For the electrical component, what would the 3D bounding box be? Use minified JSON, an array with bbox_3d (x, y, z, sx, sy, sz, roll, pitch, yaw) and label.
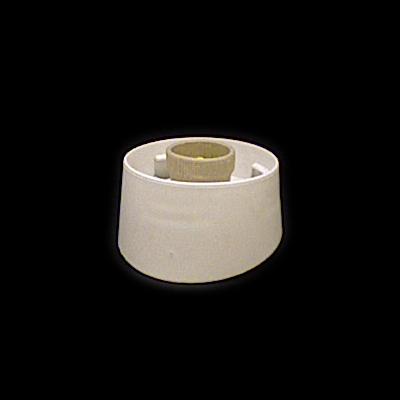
[{"bbox_3d":[0.000,0.000,0.639,0.099,0.065,0.097,1,21,0],"label":"electrical component"}]
